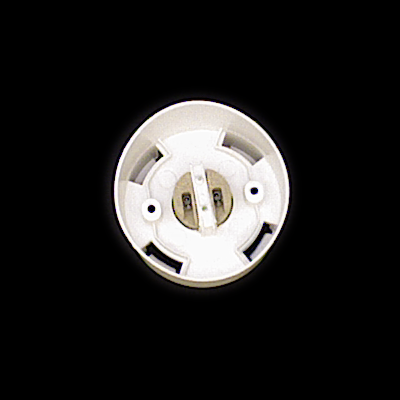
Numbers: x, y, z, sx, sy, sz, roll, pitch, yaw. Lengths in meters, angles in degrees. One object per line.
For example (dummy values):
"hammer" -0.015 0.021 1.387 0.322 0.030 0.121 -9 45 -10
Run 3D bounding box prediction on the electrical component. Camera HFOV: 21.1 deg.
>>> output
"electrical component" 0.000 0.000 0.624 0.099 0.099 0.064 0 -18 1
